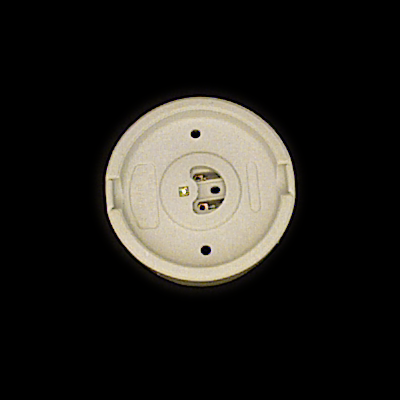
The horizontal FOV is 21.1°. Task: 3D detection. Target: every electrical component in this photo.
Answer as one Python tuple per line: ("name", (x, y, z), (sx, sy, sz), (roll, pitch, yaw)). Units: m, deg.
("electrical component", (0.000, 0.000, 0.633), (0.108, 0.108, 0.060), (0, -16, 0))
